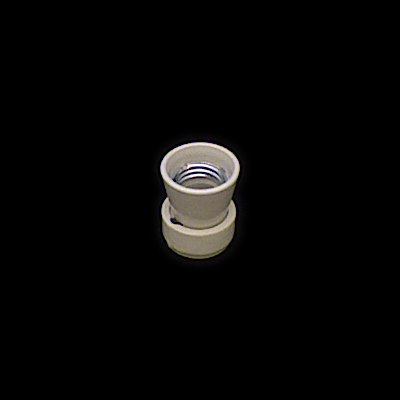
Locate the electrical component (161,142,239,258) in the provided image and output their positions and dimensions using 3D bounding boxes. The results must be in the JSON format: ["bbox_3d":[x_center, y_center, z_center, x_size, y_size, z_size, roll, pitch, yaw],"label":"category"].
[{"bbox_3d":[0.000,0.000,0.632,0.045,0.056,0.044,1,43,0],"label":"electrical component"}]
